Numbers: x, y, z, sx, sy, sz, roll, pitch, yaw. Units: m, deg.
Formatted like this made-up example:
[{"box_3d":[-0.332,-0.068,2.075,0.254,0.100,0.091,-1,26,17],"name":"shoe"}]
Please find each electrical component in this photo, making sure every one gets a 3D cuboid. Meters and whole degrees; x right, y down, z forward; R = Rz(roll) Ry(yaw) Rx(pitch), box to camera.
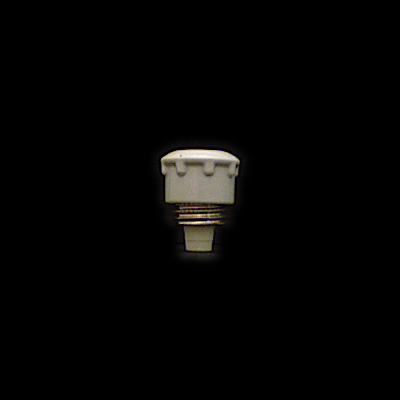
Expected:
[{"box_3d":[0.000,0.000,0.654,0.048,0.062,0.048,1,1,0],"name":"electrical component"}]
